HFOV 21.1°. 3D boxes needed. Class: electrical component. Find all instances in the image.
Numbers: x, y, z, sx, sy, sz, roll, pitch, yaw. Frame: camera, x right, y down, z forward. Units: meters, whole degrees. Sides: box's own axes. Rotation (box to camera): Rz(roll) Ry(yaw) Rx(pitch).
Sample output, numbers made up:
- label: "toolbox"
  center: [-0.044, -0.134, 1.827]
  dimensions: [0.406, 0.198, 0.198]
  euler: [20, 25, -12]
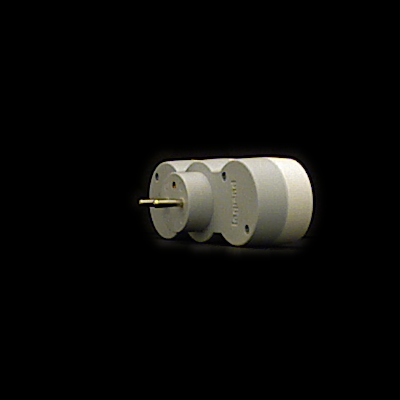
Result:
- label: "electrical component"
  center: [0.000, 0.000, 0.656]
  dimensions: [0.074, 0.052, 0.136]
  euler: [-1, 2, -30]
